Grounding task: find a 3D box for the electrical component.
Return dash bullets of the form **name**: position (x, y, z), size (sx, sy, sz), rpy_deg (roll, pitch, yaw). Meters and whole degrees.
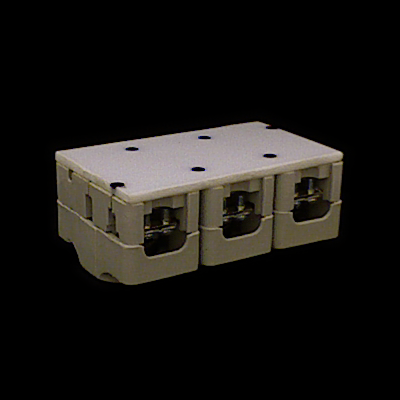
- **electrical component**: position (0.000, 0.000, 0.648), size (0.149, 0.063, 0.088), rpy_deg (-11, 24, -31)
